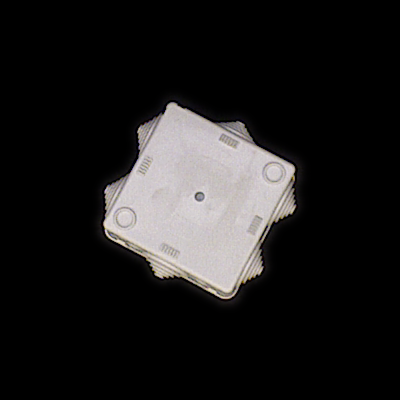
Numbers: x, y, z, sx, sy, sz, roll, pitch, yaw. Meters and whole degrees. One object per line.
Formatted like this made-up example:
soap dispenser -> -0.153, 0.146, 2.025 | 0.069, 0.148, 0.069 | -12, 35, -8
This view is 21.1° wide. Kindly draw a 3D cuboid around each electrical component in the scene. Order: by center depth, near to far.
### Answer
electrical component -> 0.000, 0.000, 0.633 | 0.100, 0.100, 0.048 | 28, -6, 3
